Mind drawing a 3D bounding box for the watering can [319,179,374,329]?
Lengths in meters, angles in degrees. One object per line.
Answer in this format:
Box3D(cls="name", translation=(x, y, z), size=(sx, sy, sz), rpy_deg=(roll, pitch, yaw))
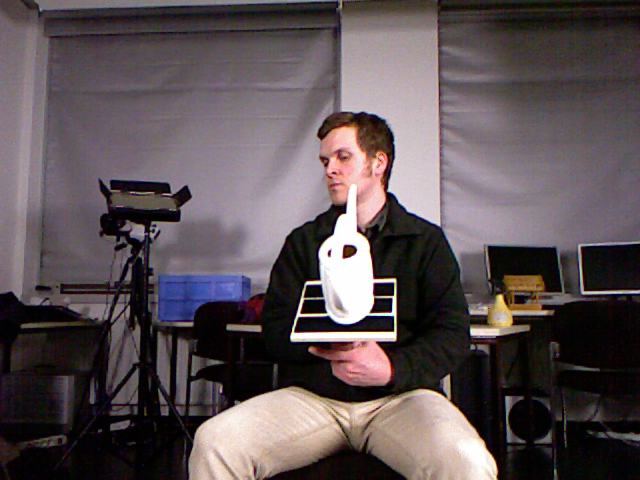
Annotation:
Box3D(cls="watering can", translation=(0.061, 0.030, 1.056), size=(0.104, 0.220, 0.356), rpy_deg=(0, 31, 12))
